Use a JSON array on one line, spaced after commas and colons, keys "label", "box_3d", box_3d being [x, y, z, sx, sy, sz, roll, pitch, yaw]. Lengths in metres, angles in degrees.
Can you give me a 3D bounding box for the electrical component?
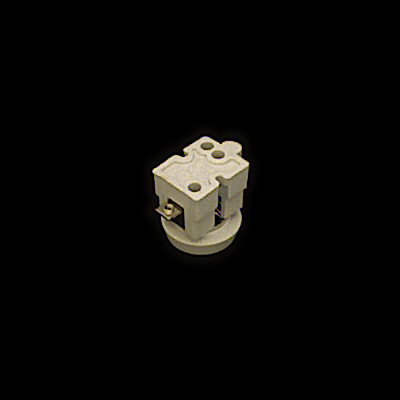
[{"label": "electrical component", "box_3d": [0.000, 0.000, 0.641, 0.048, 0.056, 0.067, 35, 53, 30]}]
